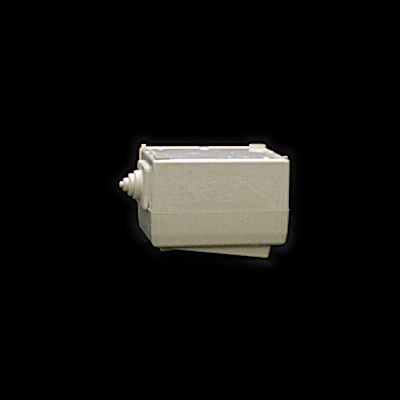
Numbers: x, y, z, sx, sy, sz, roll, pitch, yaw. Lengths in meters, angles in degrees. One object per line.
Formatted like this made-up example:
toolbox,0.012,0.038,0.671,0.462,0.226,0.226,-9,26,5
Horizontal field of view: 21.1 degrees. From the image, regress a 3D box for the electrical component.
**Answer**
electrical component,0.000,0.000,0.640,0.096,0.061,0.061,-1,11,-12
